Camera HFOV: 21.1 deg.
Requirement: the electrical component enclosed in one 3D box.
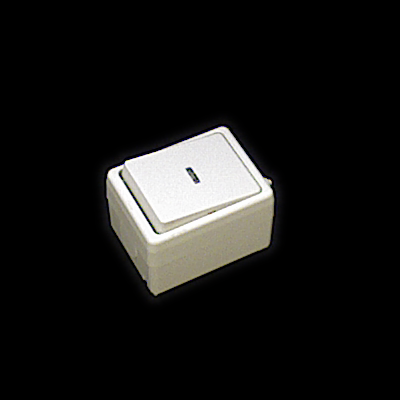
[{"bbox_3d":[0.000,0.000,0.628,0.096,0.061,0.061,-22,-34,-17],"label":"electrical component"}]
